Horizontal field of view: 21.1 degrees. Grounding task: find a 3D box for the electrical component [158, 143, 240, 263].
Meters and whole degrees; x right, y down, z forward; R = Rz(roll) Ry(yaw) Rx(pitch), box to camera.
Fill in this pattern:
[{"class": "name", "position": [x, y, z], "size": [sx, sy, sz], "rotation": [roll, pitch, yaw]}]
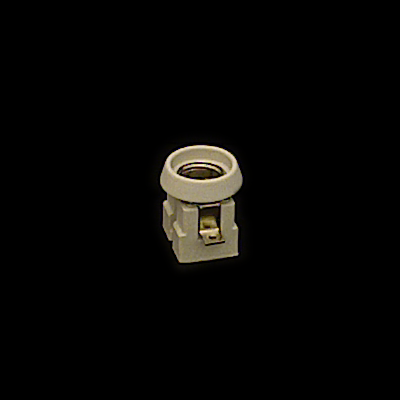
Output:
[{"class": "electrical component", "position": [0.000, 0.000, 0.642], "size": [0.048, 0.056, 0.065], "rotation": [-10, 34, -13]}]
